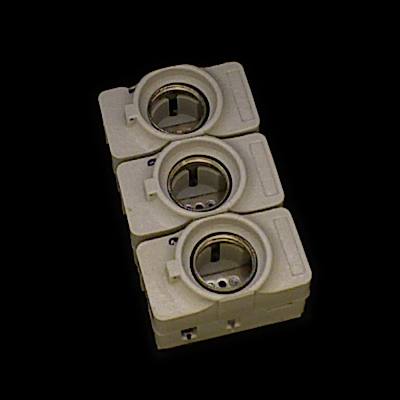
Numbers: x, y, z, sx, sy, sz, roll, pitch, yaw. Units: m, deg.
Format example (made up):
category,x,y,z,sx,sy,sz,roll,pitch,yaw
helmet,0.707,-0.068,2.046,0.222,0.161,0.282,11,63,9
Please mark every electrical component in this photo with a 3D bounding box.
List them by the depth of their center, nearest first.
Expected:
category,x,y,z,sx,sy,sz,roll,pitch,yaw
electrical component,0.000,0.000,0.631,0.090,0.149,0.062,-13,-27,-6
